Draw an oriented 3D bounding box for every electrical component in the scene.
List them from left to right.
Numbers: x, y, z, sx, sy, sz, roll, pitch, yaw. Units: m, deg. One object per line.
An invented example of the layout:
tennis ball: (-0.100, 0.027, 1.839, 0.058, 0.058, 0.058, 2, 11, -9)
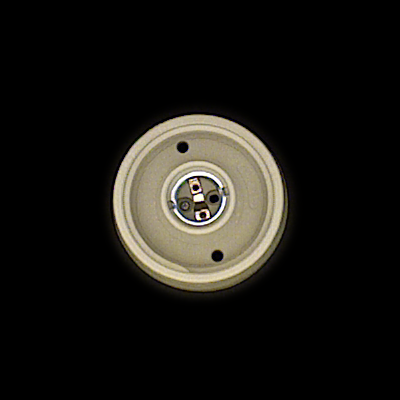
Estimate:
electrical component: (0.000, 0.000, 0.635, 0.108, 0.108, 0.060, 0, -6, 0)
